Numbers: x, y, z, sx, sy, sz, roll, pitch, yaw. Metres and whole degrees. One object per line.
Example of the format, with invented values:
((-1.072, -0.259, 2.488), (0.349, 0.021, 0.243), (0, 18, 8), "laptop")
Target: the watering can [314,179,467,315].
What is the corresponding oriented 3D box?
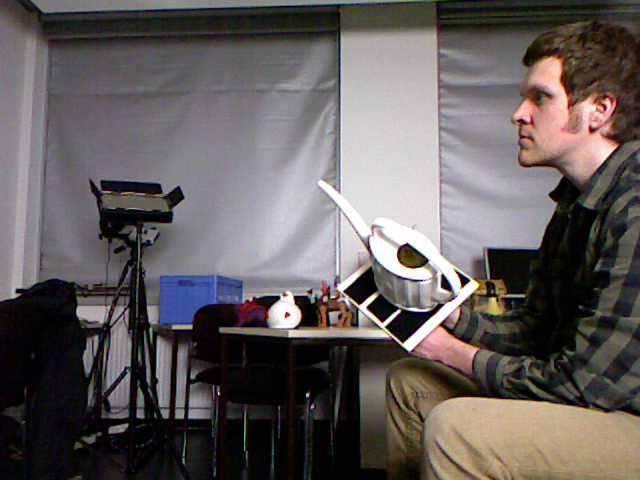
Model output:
((0.129, 0.022, 1.002), (0.352, 0.106, 0.220), (37, -24, 26), "watering can")
